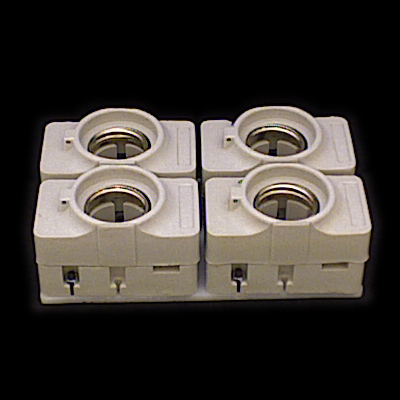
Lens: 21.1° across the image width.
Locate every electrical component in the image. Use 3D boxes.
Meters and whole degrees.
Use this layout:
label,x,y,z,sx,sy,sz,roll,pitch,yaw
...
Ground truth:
label,x,y,z,sx,sy,sz,roll,pitch,yaw
electrical component,0.000,0.000,0.629,0.186,0.061,0.104,-1,42,-2
